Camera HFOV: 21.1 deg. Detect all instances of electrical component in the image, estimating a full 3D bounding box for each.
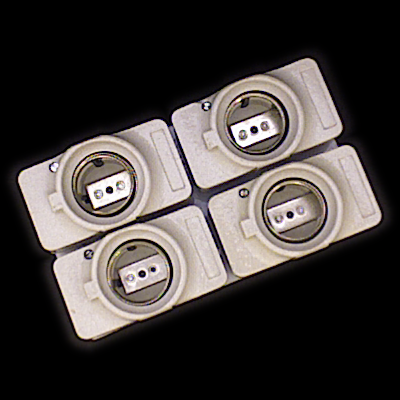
[{"bbox_3d":[0.000,0.000,0.626,0.186,0.106,0.060,-22,-6,-2],"label":"electrical component"}]
